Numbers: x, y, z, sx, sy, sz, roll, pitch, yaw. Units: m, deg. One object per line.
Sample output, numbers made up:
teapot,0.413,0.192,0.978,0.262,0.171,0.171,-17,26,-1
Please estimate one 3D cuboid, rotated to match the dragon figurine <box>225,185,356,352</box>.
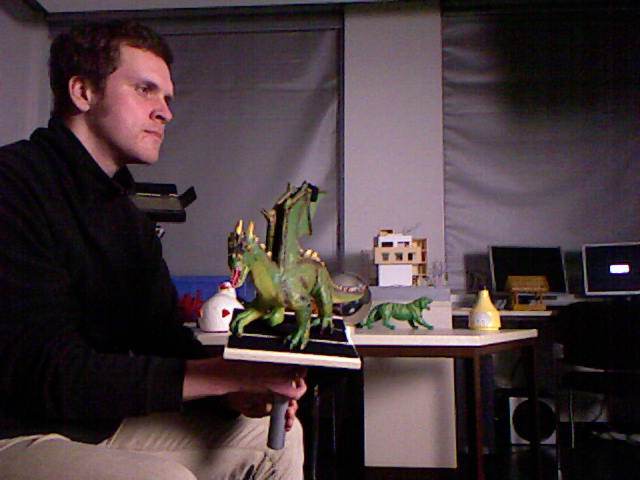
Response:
dragon figurine,-0.027,0.032,0.835,0.123,0.241,0.413,14,14,26
